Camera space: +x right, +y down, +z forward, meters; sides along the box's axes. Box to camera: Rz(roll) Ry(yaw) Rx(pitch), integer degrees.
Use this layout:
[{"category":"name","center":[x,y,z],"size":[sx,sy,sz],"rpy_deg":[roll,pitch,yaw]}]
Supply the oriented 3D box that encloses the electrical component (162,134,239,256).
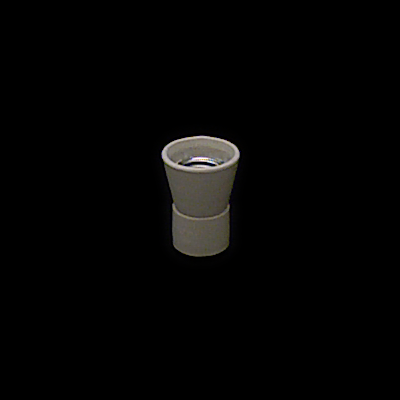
[{"category":"electrical component","center":[0.000,0.000,0.635],"size":[0.044,0.066,0.044],"rpy_deg":[0,31,0]}]
